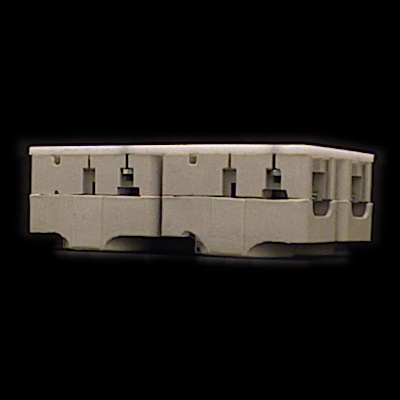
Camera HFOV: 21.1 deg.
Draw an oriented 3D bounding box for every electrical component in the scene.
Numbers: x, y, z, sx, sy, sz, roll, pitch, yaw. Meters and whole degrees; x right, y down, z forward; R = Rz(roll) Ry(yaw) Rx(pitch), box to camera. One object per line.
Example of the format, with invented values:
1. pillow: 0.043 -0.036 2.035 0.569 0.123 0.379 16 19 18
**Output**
1. electrical component: 0.000 0.000 0.650 0.186 0.060 0.106 1 0 29
